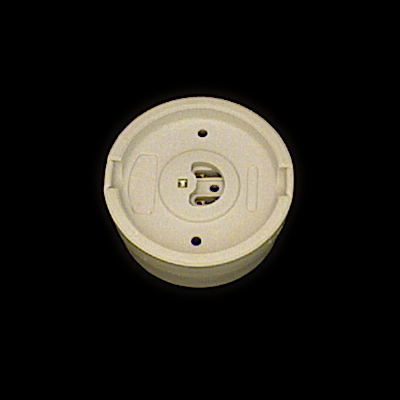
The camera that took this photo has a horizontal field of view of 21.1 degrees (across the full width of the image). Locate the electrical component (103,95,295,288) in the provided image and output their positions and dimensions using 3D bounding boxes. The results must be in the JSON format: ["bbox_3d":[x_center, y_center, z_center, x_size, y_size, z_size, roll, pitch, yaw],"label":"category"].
[{"bbox_3d":[0.000,0.000,0.632,0.108,0.108,0.060,0,-27,-1],"label":"electrical component"}]
